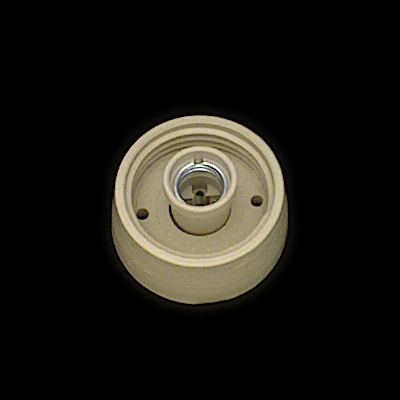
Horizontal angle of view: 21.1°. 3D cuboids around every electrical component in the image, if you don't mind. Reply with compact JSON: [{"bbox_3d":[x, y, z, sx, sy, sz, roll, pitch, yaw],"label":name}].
[{"bbox_3d":[0.000,0.000,0.633,0.108,0.108,0.060,0,-27,-1],"label":"electrical component"}]
